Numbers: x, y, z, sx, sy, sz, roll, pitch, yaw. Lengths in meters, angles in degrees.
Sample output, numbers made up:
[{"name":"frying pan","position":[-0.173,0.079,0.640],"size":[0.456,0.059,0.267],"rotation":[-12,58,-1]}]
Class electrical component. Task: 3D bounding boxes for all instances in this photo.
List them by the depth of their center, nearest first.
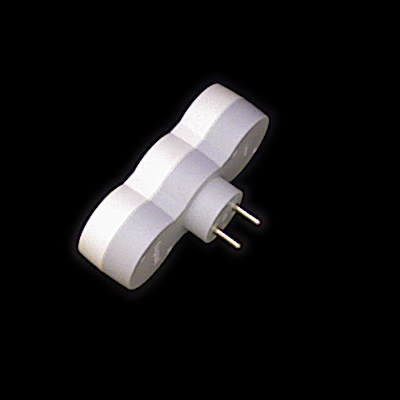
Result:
[{"name":"electrical component","position":[0.000,0.000,0.632],"size":[0.073,0.138,0.052],"rotation":[35,-23,14]}]
